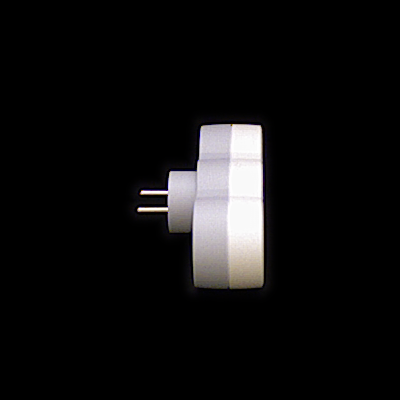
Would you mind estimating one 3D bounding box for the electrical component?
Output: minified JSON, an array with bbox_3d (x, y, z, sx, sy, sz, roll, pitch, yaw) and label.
[{"bbox_3d":[0.000,0.000,0.634,0.074,0.053,0.137,0,32,2],"label":"electrical component"}]
